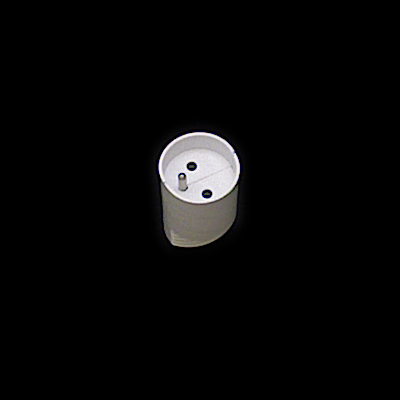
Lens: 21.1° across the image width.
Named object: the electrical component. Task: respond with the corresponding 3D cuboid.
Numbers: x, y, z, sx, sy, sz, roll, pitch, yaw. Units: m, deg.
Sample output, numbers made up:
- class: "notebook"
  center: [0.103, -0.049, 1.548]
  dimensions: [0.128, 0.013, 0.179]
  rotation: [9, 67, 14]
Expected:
- class: "electrical component"
  center: [0.000, 0.000, 0.615]
  dimensions: [0.043, 0.043, 0.081]
  rotation: [0, -28, 1]
